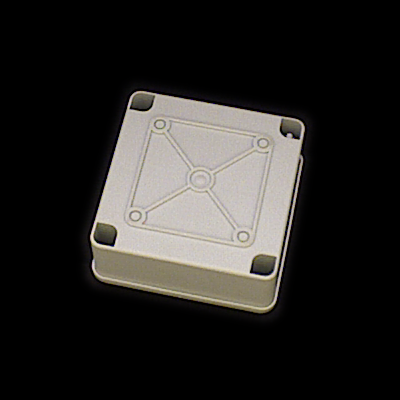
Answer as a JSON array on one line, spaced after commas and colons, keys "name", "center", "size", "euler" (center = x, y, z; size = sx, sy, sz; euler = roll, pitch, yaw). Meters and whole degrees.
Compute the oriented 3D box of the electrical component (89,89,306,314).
[{"name": "electrical component", "center": [0.000, 0.000, 0.629], "size": [0.109, 0.108, 0.056], "euler": [11, -27, 5]}]
